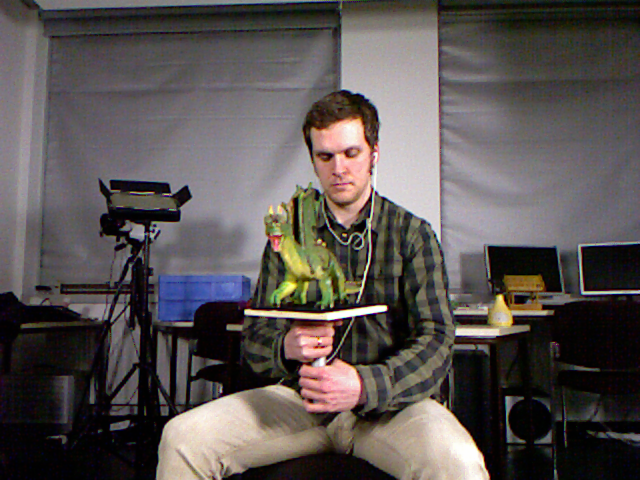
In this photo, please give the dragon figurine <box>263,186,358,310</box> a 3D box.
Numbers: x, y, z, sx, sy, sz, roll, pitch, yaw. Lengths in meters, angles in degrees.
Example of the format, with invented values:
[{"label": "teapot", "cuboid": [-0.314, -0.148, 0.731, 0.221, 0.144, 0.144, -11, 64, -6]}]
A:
[{"label": "dragon figurine", "cuboid": [-0.007, 0.011, 1.041, 0.122, 0.243, 0.411, -1, 1, 23]}]
